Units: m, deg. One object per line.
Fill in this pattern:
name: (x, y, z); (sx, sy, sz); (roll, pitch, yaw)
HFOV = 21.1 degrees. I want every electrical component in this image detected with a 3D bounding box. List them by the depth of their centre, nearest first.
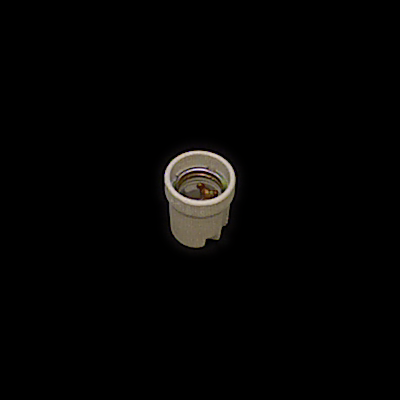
electrical component: (0.000, 0.000, 0.630); (0.040, 0.040, 0.046); (0, -38, -1)
